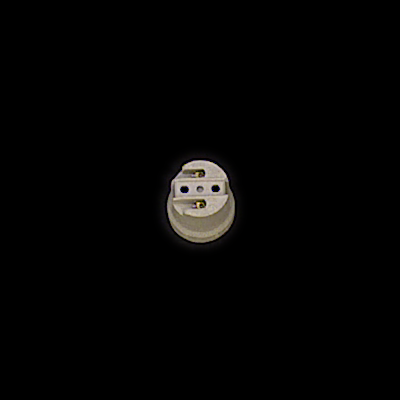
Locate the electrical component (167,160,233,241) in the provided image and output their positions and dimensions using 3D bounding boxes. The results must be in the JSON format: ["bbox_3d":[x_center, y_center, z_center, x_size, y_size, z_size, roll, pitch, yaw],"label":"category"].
[{"bbox_3d":[0.000,0.000,0.633,0.040,0.040,0.046,0,-17,0],"label":"electrical component"}]
